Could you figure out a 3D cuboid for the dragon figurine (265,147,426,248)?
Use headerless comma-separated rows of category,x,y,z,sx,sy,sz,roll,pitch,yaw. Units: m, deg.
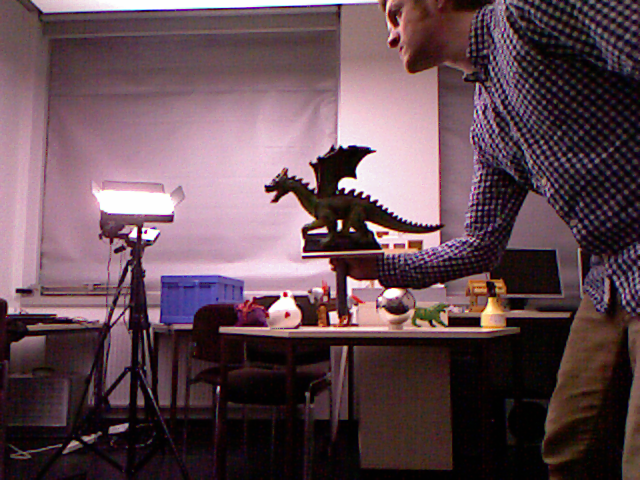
dragon figurine,0.069,-0.114,1.304,0.411,0.239,0.124,-4,21,-5
